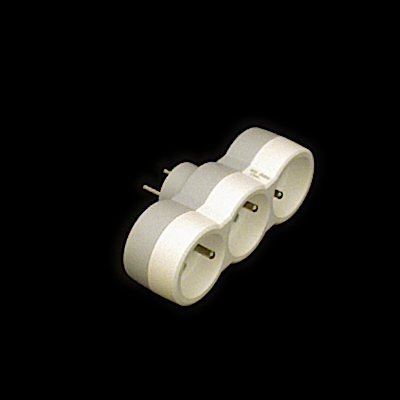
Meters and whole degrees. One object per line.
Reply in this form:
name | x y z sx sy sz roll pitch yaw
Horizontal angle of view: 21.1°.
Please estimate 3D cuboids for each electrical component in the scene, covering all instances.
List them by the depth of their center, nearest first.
electrical component | 0.000 0.000 0.643 0.073 0.053 0.138 28 49 28
